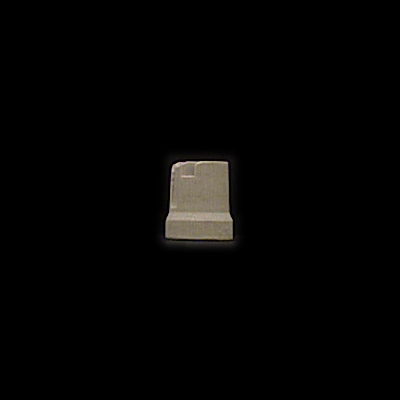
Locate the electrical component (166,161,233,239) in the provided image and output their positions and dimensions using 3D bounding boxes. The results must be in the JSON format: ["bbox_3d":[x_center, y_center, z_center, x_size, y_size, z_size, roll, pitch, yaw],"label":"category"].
[{"bbox_3d":[0.000,0.000,0.650,0.040,0.046,0.040,1,1,0],"label":"electrical component"}]
